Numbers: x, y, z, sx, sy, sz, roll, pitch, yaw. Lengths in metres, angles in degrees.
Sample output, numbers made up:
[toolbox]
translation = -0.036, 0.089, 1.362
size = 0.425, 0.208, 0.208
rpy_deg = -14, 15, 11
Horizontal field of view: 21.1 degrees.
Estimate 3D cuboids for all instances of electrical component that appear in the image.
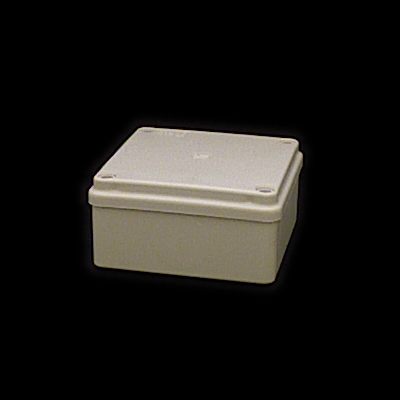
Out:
[electrical component]
translation = 0.000, 0.000, 0.638
size = 0.108, 0.057, 0.107
rpy_deg = 5, 22, 11
